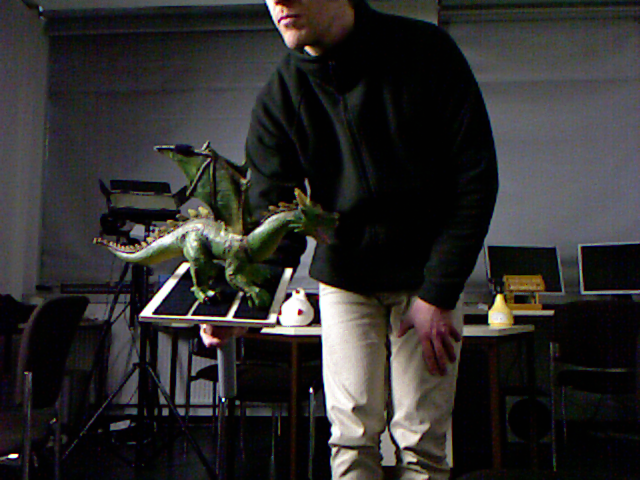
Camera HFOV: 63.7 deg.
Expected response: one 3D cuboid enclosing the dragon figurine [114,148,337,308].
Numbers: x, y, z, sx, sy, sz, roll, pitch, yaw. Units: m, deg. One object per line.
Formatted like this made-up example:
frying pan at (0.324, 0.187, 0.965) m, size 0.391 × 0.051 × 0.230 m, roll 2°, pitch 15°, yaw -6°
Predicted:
dragon figurine at (-0.174, -0.031, 0.807) m, size 0.411 × 0.238 × 0.125 m, roll 9°, pitch 28°, yaw 15°
